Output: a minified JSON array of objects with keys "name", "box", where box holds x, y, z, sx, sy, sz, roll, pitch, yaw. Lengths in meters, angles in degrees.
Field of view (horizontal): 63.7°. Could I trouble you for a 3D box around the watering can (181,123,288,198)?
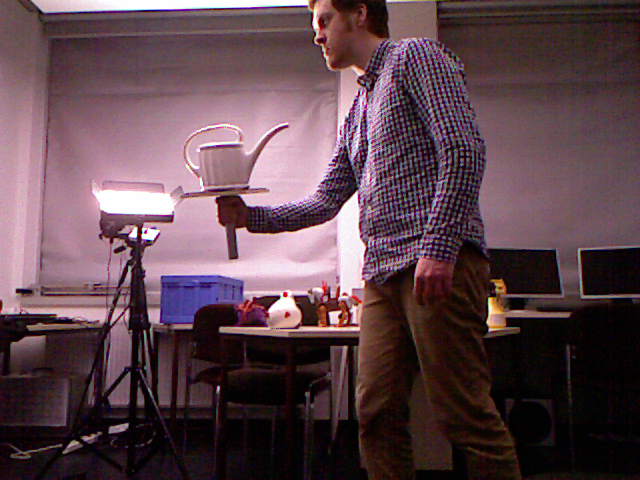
[{"name":"watering can","box":[-0.253,-0.240,1.552,0.347,0.223,0.105,-5,10,12]}]
